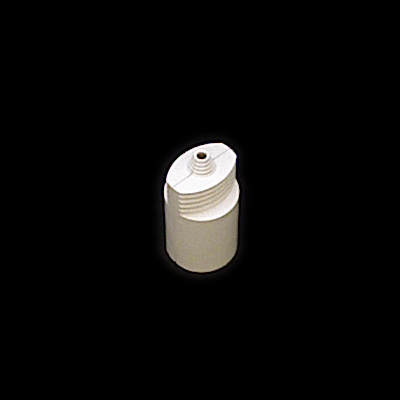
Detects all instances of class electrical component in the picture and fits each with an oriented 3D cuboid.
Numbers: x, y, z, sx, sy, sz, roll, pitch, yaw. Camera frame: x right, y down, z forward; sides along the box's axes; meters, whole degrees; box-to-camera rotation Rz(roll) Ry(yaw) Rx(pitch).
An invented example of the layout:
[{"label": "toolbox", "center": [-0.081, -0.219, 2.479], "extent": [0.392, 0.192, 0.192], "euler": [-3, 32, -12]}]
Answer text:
[{"label": "electrical component", "center": [0.000, 0.000, 0.620], "extent": [0.043, 0.043, 0.081], "euler": [0, -38, 0]}]
